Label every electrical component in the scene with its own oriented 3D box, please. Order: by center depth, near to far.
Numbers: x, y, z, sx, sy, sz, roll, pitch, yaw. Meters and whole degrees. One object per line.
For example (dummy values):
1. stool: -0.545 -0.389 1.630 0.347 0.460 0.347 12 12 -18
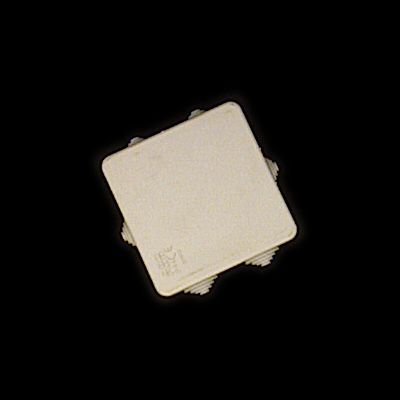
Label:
1. electrical component: 0.000 0.000 0.642 0.100 0.100 0.048 -24 -6 -3
